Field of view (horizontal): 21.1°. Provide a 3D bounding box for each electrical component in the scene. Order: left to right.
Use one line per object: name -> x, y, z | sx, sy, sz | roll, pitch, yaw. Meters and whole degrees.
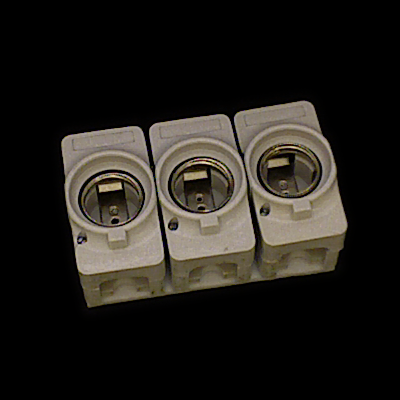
electrical component -> 0.000, 0.000, 0.631 | 0.150, 0.089, 0.062 | -9, -26, -4
